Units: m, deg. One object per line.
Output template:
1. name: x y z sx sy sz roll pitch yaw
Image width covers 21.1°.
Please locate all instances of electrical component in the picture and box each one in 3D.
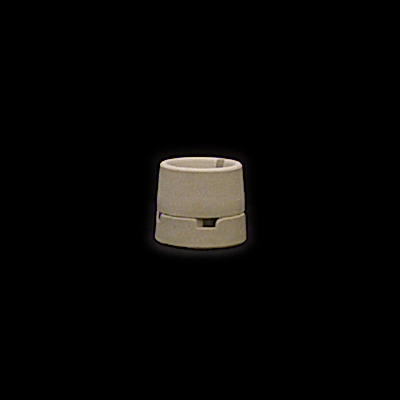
1. electrical component: 0.000 0.000 0.644 0.055 0.047 0.055 0 11 0
